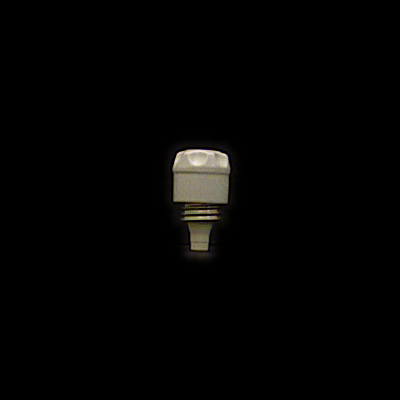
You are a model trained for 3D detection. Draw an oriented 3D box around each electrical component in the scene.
[{"bbox_3d":[0.000,0.000,0.658,0.035,0.061,0.035,2,2,0],"label":"electrical component"}]
